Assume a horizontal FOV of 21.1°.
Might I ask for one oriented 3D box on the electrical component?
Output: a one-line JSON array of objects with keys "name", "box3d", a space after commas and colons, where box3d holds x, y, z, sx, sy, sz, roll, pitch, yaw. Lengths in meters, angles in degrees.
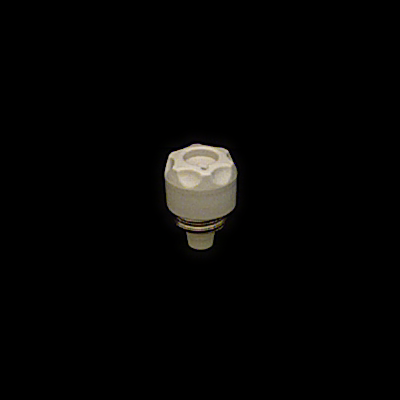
[{"name": "electrical component", "box3d": [0.000, 0.000, 0.642, 0.043, 0.063, 0.043, 0, 31, 0]}]
